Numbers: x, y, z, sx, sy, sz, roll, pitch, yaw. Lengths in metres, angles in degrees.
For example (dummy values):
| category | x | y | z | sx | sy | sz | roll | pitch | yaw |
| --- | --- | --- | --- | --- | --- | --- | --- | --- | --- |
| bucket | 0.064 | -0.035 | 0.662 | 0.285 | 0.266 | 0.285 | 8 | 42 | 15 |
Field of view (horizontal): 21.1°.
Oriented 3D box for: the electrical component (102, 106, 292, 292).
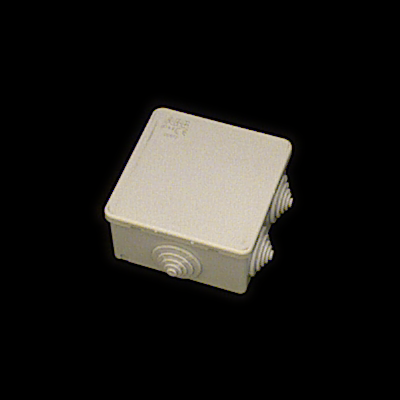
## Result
| category | x | y | z | sx | sy | sz | roll | pitch | yaw |
| --- | --- | --- | --- | --- | --- | --- | --- | --- | --- |
| electrical component | 0.000 | 0.000 | 0.641 | 0.099 | 0.100 | 0.049 | 16 | -35 | 11 |
